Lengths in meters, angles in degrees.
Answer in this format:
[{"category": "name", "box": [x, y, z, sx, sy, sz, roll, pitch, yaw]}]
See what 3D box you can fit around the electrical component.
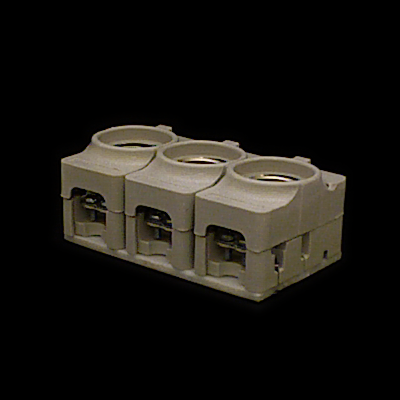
[{"category": "electrical component", "box": [0.000, 0.000, 0.646, 0.149, 0.063, 0.088, 16, 25, 34]}]
